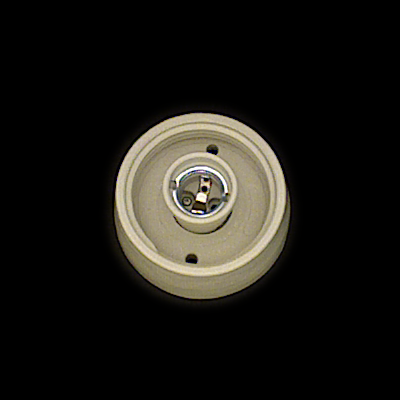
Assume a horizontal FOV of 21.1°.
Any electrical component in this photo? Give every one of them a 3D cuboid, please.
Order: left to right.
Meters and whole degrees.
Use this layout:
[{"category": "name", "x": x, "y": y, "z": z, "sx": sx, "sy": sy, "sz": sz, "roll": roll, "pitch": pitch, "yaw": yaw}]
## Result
[{"category": "electrical component", "x": 0.000, "y": 0.000, "z": 0.633, "sx": 0.108, "sy": 0.108, "sz": 0.060, "roll": 0, "pitch": -16, "yaw": 0}]
